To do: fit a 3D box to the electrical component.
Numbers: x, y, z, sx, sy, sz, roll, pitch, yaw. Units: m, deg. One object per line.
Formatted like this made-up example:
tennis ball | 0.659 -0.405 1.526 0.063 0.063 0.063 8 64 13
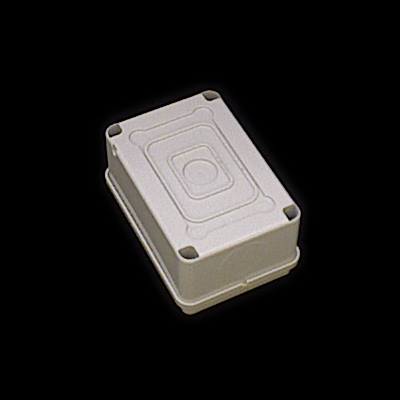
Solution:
electrical component | 0.000 0.000 0.629 0.078 0.112 0.057 -21 -34 -17
